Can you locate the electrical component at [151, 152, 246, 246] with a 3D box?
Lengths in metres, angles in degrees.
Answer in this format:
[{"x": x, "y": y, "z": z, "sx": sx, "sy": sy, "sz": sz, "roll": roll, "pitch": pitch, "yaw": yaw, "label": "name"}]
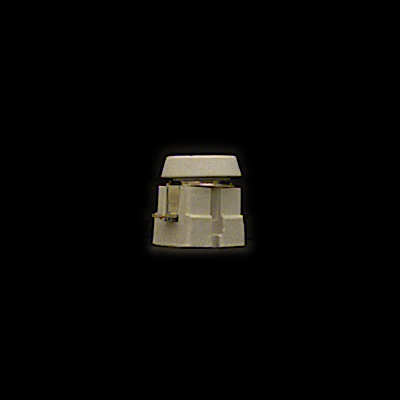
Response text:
[{"x": 0.000, "y": 0.000, "z": 0.655, "sx": 0.067, "sy": 0.055, "sz": 0.048, "roll": 0, "pitch": 0, "yaw": -40, "label": "electrical component"}]
